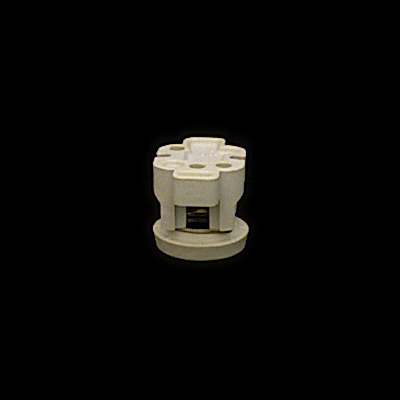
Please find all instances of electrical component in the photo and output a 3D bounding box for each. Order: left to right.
[{"bbox_3d":[0.000,0.000,0.648,0.058,0.057,0.077,1,20,3],"label":"electrical component"}]
